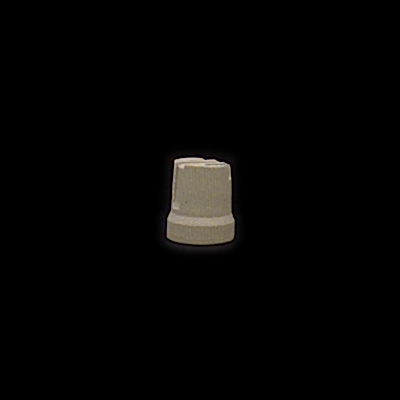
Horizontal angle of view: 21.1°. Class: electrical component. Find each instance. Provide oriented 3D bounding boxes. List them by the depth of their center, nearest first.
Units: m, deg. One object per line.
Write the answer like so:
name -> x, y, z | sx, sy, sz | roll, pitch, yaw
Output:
electrical component -> 0.000, 0.000, 0.646 | 0.040, 0.046, 0.040 | 1, 12, 0
